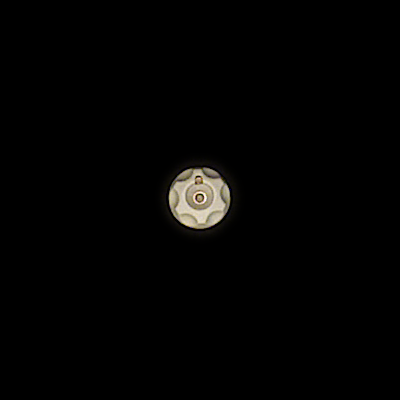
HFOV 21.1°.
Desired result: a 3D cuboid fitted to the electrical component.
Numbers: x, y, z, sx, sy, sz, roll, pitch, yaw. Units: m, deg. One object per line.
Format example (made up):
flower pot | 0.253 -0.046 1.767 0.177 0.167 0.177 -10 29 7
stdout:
electrical component | 0.000 0.000 0.635 0.035 0.035 0.061 0 -6 1
